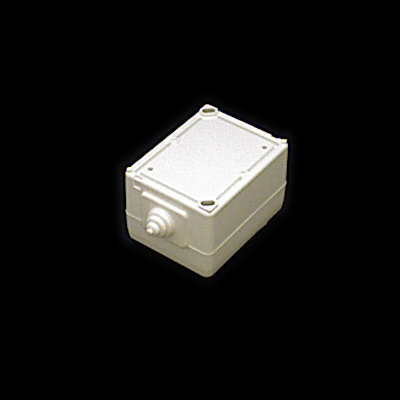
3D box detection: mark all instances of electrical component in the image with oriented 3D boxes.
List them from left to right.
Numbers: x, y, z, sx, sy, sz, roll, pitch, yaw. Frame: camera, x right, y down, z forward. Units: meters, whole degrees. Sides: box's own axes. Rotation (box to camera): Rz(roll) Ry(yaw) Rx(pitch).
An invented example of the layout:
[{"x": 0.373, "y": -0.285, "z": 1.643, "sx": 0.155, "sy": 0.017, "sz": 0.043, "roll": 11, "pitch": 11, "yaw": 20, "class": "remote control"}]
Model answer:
[{"x": 0.000, "y": 0.000, "z": 0.625, "sx": 0.061, "sy": 0.061, "sz": 0.096, "roll": 27, "pitch": 47, "yaw": 25, "class": "electrical component"}]
